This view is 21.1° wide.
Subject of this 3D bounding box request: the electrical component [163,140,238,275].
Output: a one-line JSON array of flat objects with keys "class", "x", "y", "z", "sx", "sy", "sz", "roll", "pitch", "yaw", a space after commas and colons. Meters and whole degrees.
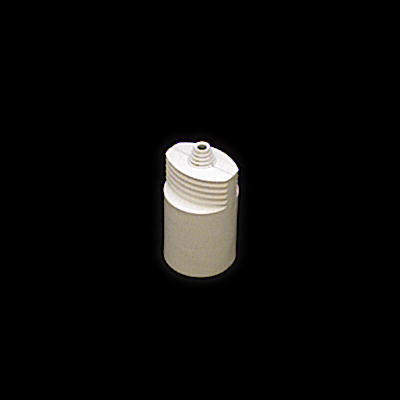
[{"class": "electrical component", "x": 0.000, "y": 0.000, "z": 0.623, "sx": 0.043, "sy": 0.082, "sz": 0.042, "roll": 0, "pitch": 42, "yaw": 0}]
